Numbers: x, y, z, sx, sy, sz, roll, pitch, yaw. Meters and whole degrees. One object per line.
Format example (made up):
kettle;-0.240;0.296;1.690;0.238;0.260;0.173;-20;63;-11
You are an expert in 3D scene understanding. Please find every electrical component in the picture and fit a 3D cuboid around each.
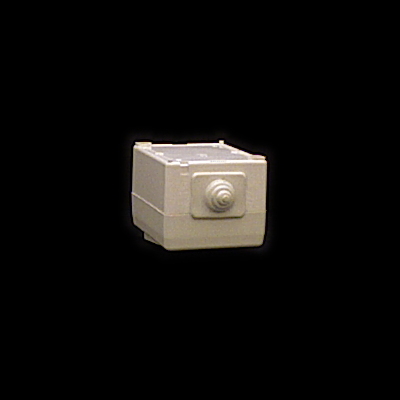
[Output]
electrical component;0.000;0.000;0.642;0.062;0.061;0.095;-2;12;-18
